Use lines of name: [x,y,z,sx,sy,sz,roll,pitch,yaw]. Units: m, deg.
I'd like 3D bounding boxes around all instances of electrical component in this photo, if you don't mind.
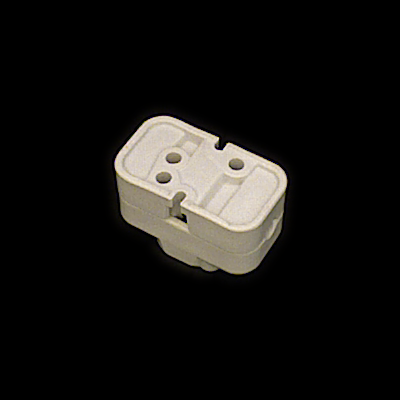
electrical component: [0.000,0.000,0.634,0.094,0.054,0.059,26,-33,17]
